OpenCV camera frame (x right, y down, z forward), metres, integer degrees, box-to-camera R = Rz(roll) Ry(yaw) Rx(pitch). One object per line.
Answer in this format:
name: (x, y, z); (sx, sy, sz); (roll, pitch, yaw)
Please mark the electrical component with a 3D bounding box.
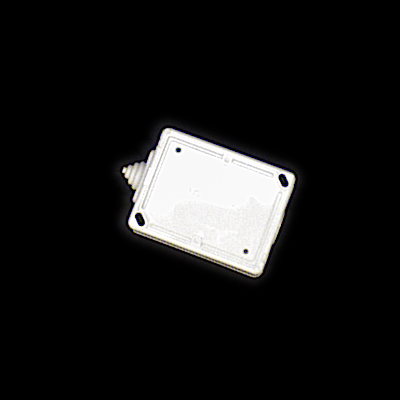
electrical component: (0.000, 0.000, 0.627); (0.096, 0.062, 0.061); (20, -5, 3)
